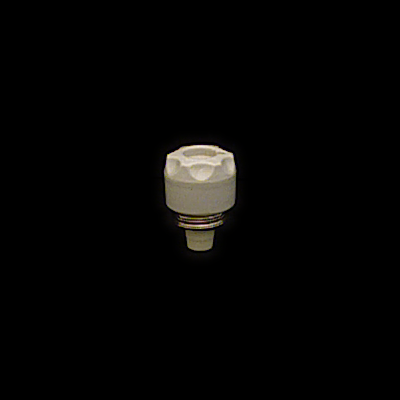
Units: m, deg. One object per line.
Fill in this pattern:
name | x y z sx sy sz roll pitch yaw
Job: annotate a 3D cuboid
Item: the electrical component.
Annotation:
electrical component | 0.000 0.000 0.645 0.043 0.063 0.043 0 22 0
